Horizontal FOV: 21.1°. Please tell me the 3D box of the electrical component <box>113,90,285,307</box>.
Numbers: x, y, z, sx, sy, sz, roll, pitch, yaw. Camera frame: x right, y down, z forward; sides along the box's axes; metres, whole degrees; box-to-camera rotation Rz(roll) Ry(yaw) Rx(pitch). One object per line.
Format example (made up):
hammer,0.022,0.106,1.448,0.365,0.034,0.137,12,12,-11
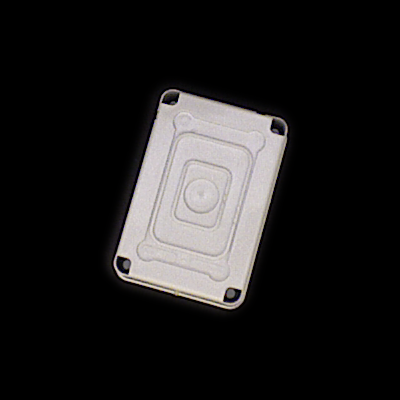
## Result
electrical component,0.000,0.000,0.628,0.078,0.113,0.057,16,-6,2
